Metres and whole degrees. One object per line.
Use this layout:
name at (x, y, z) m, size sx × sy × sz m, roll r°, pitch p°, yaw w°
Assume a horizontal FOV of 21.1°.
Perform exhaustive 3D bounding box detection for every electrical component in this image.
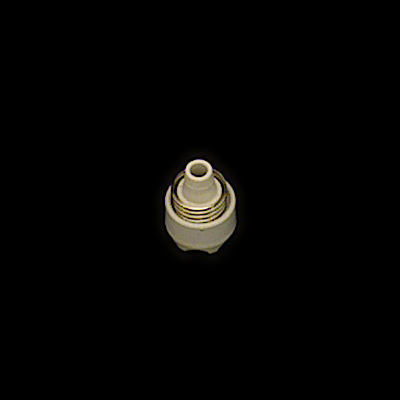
electrical component at (0.000, 0.000, 0.635) m, size 0.043 × 0.043 × 0.062 m, roll 0°, pitch -36°, yaw 1°
